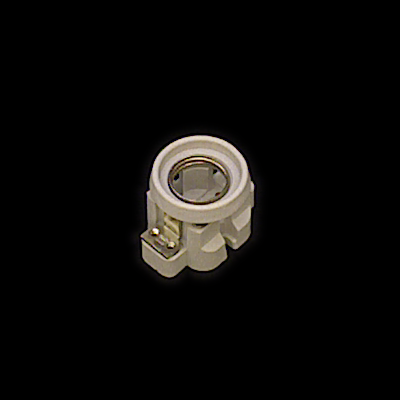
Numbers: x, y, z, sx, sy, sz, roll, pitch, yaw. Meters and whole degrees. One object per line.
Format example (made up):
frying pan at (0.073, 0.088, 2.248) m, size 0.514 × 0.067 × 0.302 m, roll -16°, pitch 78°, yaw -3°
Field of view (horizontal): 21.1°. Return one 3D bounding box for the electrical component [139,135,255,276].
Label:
electrical component at (0.000, 0.000, 0.628) m, size 0.057 × 0.057 × 0.078 m, roll 37°, pitch 61°, yaw 24°
